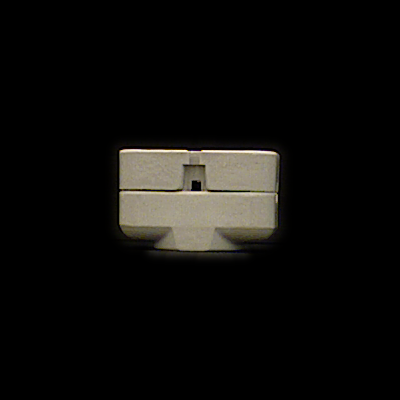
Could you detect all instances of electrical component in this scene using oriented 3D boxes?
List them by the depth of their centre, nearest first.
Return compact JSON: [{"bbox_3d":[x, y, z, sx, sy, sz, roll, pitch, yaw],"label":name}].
[{"bbox_3d":[0.000,0.000,0.659,0.095,0.059,0.054,1,1,7],"label":"electrical component"}]
